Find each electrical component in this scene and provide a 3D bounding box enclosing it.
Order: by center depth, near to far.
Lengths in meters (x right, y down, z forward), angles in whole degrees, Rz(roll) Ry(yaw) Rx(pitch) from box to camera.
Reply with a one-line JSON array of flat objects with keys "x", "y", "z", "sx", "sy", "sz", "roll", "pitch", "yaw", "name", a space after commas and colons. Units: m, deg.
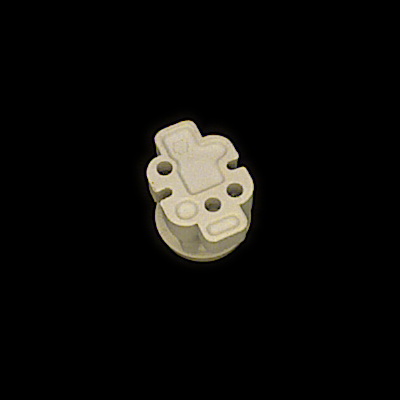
[{"x": 0.000, "y": 0.000, "z": 0.636, "sx": 0.058, "sy": 0.078, "sz": 0.057, "roll": -24, "pitch": -25, "yaw": -10, "name": "electrical component"}]
